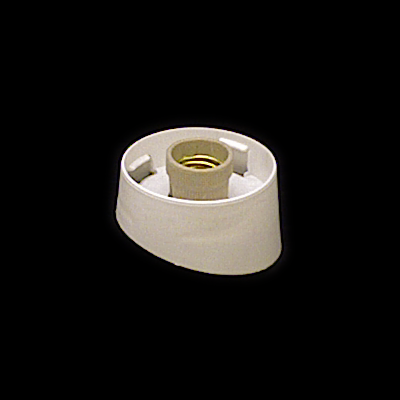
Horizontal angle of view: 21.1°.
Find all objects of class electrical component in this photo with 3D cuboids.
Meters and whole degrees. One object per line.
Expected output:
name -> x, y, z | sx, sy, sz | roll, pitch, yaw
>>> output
electrical component -> 0.000, 0.000, 0.633 | 0.099, 0.065, 0.097 | 1, 31, 0
